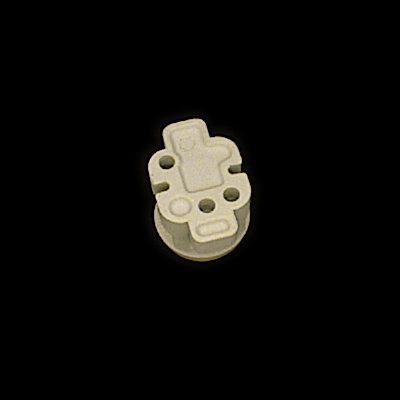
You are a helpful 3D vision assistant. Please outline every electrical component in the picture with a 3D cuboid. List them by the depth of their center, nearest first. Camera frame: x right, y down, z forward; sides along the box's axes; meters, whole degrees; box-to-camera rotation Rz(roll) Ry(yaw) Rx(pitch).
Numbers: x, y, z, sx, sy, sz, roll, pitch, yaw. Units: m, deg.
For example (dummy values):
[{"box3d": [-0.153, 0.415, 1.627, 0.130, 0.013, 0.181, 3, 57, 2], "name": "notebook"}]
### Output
[{"box3d": [0.000, 0.000, 0.636, 0.058, 0.078, 0.057, -15, -27, -6], "name": "electrical component"}]
